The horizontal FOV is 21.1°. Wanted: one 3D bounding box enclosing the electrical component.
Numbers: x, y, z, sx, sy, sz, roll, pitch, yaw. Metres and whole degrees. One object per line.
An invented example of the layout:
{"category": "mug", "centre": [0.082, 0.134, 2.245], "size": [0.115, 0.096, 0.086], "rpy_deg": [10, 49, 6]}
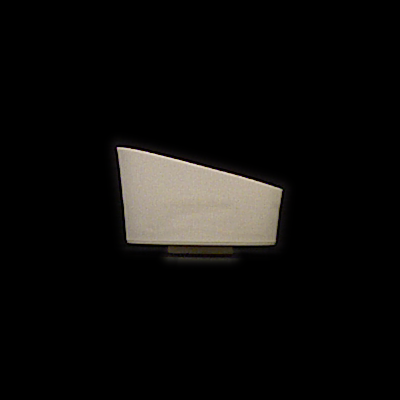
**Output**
{"category": "electrical component", "centre": [0.000, 0.000, 0.649], "size": [0.099, 0.064, 0.099], "rpy_deg": [0, 0, 0]}
